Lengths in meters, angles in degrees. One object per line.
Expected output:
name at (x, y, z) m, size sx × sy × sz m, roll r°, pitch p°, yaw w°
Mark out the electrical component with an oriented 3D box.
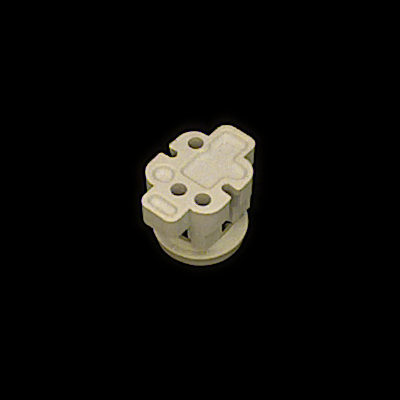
electrical component at (0.000, 0.000, 0.638) m, size 0.057 × 0.057 × 0.079 m, roll 32°, pitch 57°, yaw 22°
